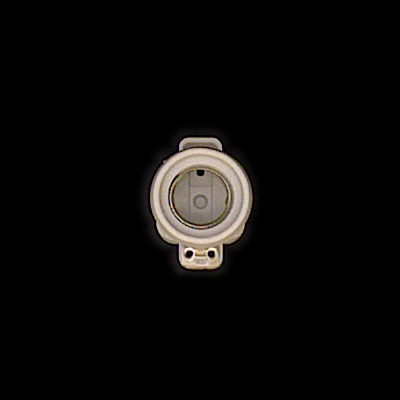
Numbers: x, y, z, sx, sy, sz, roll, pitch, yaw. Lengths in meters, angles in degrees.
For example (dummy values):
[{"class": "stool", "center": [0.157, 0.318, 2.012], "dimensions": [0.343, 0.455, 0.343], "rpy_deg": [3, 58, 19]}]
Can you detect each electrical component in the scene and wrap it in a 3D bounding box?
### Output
[{"class": "electrical component", "center": [0.000, 0.000, 0.629], "dimensions": [0.058, 0.079, 0.056], "rpy_deg": [0, -6, 0]}]
